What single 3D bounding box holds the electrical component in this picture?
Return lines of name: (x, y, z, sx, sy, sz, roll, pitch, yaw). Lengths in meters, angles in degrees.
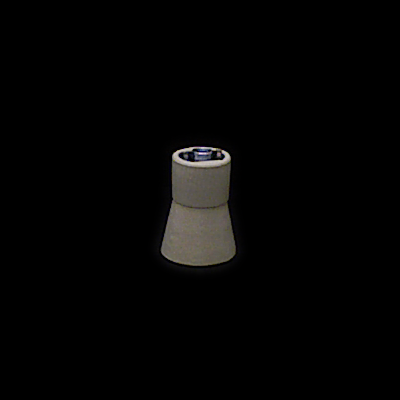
electrical component: (0.000, 0.000, 0.636, 0.044, 0.066, 0.044, 1, 22, 0)
